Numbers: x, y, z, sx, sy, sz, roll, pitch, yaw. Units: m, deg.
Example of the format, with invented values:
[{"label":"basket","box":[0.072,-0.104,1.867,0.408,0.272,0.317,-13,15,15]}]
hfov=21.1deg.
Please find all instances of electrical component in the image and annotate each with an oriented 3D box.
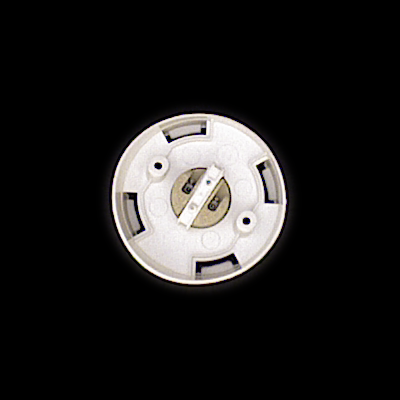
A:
[{"label":"electrical component","box":[0.000,0.000,0.624,0.099,0.099,0.064,0,-6,0]}]
